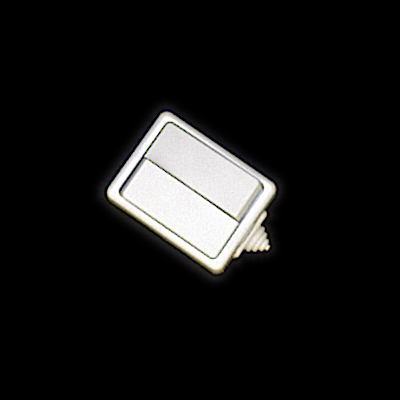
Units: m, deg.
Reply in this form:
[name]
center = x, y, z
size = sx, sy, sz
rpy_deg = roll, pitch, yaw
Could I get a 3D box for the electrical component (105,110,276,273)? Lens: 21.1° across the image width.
[electrical component]
center = 0.000, 0.000, 0.627
size = 0.096, 0.062, 0.061
rpy_deg = 35, -5, 4
